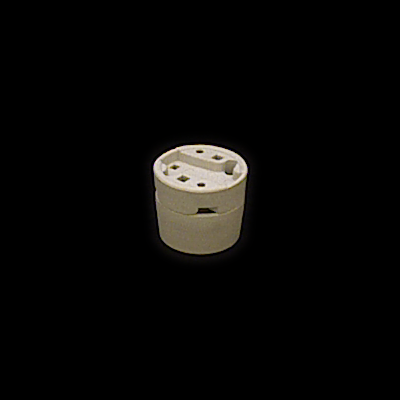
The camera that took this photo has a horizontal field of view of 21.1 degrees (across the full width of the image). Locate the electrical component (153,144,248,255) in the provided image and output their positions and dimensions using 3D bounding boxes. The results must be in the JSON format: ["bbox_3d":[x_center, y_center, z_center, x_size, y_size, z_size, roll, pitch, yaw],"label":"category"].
[{"bbox_3d":[0.000,0.000,0.639,0.055,0.047,0.055,1,31,0],"label":"electrical component"}]
